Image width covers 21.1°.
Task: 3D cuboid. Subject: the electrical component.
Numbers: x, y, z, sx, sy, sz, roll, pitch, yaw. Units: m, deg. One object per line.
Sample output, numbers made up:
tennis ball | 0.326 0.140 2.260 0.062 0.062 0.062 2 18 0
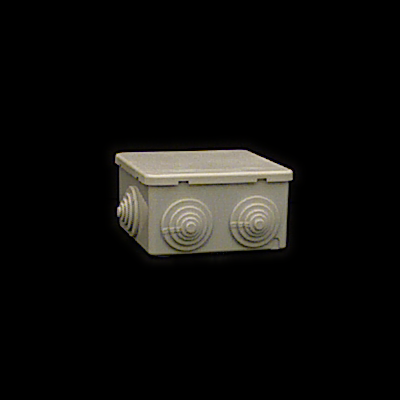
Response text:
electrical component | 0.000 0.000 0.650 0.100 0.049 0.098 -2 12 -17
